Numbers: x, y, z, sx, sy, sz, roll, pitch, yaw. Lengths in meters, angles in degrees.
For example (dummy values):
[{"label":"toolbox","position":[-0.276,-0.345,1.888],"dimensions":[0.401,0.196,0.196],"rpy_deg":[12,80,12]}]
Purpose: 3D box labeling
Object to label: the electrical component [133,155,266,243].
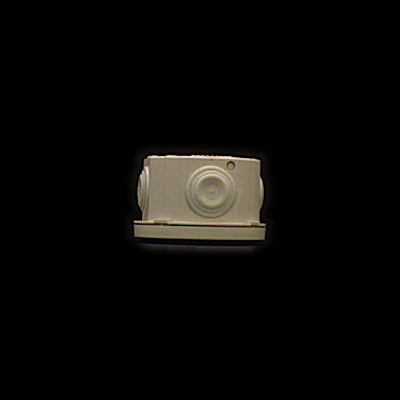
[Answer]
[{"label":"electrical component","position":[0.000,0.000,0.651],"dimensions":[0.080,0.051,0.080],"rpy_deg":[1,0,0]}]
